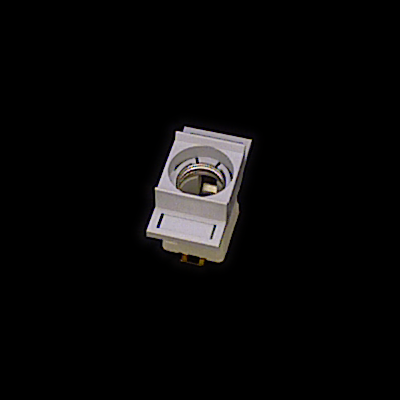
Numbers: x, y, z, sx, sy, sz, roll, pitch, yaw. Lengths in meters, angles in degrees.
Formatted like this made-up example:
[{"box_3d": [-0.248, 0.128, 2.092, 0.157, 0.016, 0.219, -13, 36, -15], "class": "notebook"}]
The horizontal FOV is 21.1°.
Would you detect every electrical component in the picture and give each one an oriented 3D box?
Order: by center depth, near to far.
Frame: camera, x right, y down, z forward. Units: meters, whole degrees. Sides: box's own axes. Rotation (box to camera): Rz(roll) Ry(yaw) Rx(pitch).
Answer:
[{"box_3d": [0.000, 0.000, 0.628, 0.042, 0.080, 0.064, 12, -37, 10], "class": "electrical component"}]
